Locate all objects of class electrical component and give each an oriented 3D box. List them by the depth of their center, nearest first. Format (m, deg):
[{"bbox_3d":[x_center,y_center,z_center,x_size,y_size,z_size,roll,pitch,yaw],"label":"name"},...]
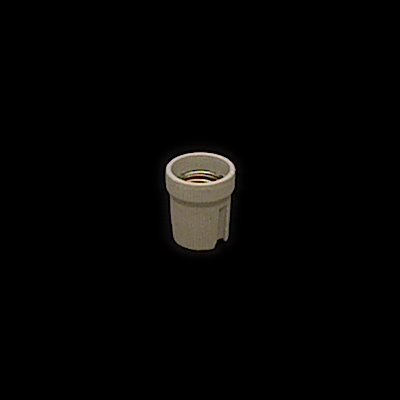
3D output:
[{"bbox_3d":[0.000,0.000,0.637,0.040,0.047,0.039,1,31,0],"label":"electrical component"}]
